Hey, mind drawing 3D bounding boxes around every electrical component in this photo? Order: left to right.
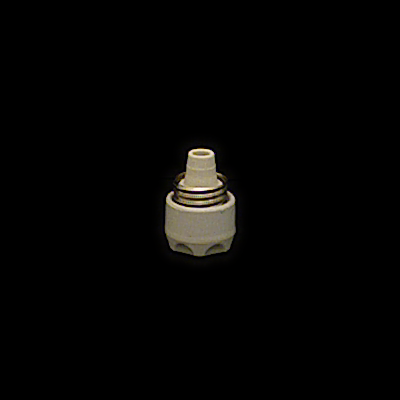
[{"bbox_3d":[0.000,0.000,0.645,0.043,0.063,0.043,1,23,0],"label":"electrical component"}]
